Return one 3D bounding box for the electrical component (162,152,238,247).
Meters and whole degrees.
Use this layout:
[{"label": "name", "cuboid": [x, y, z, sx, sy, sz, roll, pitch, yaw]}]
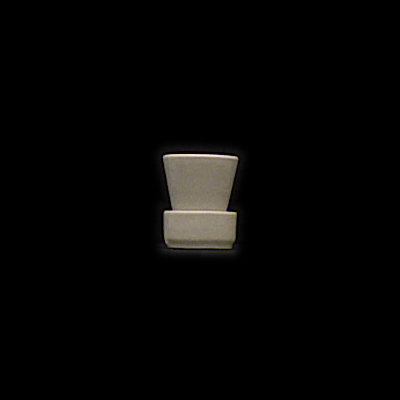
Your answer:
[{"label": "electrical component", "cuboid": [0.000, 0.000, 0.650, 0.045, 0.055, 0.045, 1, 0, 0]}]
